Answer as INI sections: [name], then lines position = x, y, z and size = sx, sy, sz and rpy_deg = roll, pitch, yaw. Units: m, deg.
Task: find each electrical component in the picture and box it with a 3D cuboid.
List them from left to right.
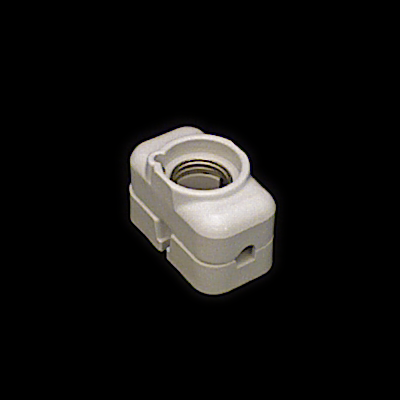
[electrical component]
position = 0.000, 0.000, 0.637
size = 0.054, 0.060, 0.094
rpy_deg = -25, 48, -25
